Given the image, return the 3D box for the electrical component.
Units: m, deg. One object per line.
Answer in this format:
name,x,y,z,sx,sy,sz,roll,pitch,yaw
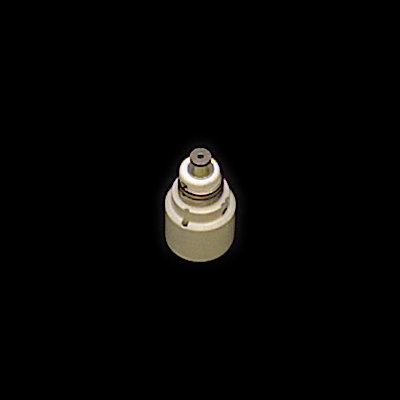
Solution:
electrical component,0.000,0.000,0.620,0.040,0.040,0.078,0,-39,-1
